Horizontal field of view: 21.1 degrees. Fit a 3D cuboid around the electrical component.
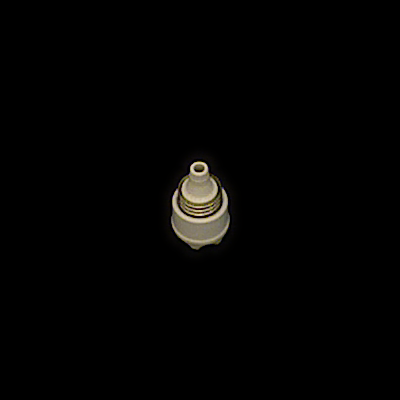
[{"bbox_3d":[0.000,0.000,0.638,0.035,0.035,0.062,0,-39,1],"label":"electrical component"}]
